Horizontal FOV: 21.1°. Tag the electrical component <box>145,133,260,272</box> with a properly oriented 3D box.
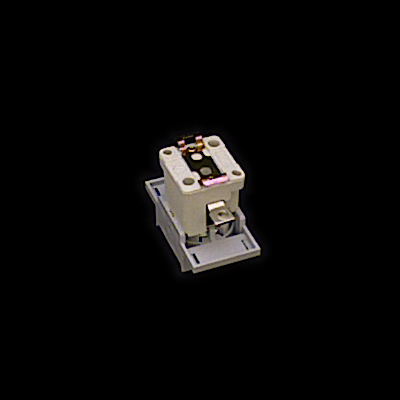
[{"bbox_3d":[0.000,0.000,0.630,0.042,0.064,0.080,-16,45,-17],"label":"electrical component"}]
